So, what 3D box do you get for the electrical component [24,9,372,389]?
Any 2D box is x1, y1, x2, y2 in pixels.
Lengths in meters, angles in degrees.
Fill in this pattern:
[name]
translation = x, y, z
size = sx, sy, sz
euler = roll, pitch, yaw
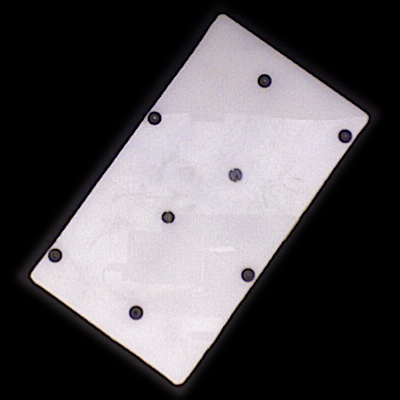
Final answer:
[electrical component]
translation = 0.000, 0.000, 0.625
size = 0.105, 0.187, 0.060
euler = 35, -6, 4
